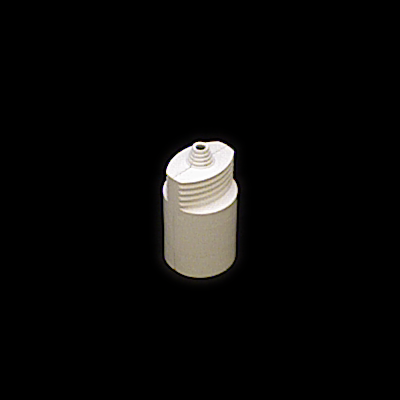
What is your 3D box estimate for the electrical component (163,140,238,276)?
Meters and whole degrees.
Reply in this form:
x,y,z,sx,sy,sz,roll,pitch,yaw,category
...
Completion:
x,y,z,sx,sy,sz,roll,pitch,yaw,category
0.000,0.000,0.624,0.043,0.082,0.042,1,42,0,electrical component
